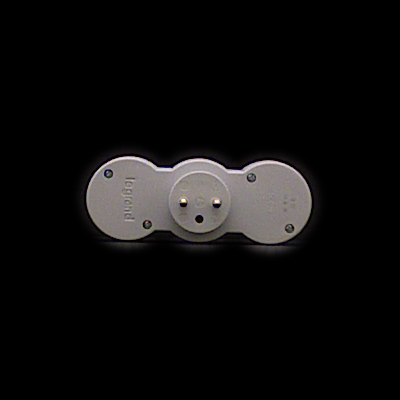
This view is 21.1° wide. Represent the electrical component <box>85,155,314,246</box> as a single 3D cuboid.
[{"bbox_3d":[0.000,0.000,0.650,0.138,0.052,0.073,2,2,-1],"label":"electrical component"}]
